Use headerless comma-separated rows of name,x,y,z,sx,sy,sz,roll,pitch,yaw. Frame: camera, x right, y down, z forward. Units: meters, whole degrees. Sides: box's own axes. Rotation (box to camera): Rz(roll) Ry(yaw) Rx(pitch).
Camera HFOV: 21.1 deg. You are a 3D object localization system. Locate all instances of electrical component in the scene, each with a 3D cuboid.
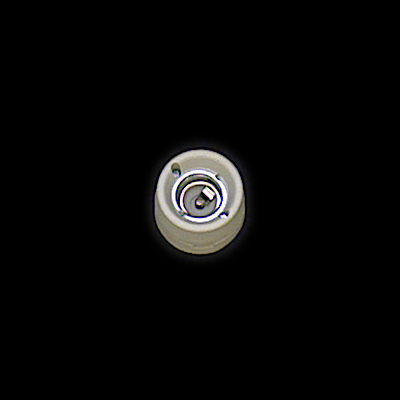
electrical component,0.000,0.000,0.632,0.055,0.056,0.047,0,-16,-1
